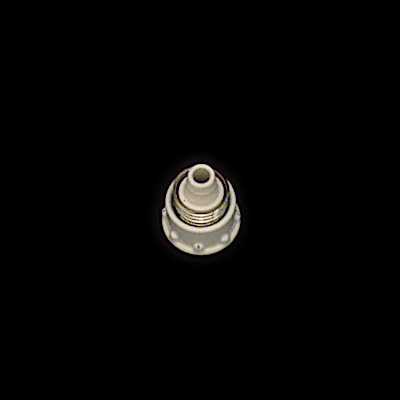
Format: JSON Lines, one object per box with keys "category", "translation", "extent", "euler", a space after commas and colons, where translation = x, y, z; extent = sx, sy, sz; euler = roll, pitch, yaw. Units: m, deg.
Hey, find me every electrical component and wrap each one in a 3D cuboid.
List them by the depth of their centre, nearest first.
{"category": "electrical component", "translation": [0.000, 0.000, 0.634], "extent": [0.048, 0.048, 0.062], "euler": [0, -27, -1]}
